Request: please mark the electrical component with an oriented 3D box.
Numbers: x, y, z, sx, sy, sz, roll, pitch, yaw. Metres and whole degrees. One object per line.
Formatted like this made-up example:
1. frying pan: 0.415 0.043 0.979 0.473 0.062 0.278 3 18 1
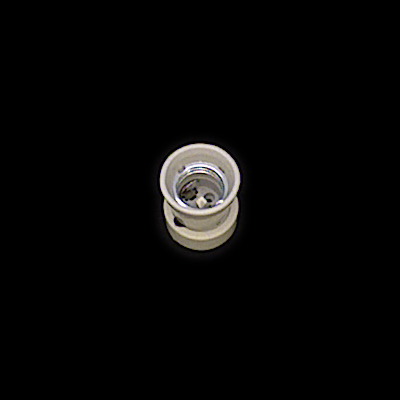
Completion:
1. electrical component: 0.000 0.000 0.628 0.045 0.045 0.055 0 -28 0
